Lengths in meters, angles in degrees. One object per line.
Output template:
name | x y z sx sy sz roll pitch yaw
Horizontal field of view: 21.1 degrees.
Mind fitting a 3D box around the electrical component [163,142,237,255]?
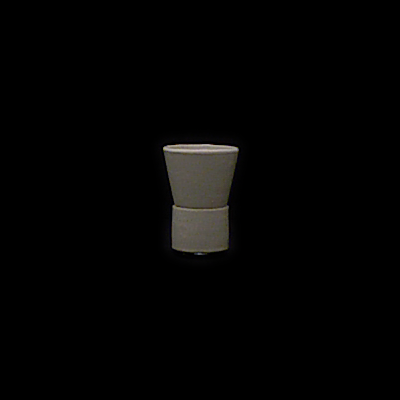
electrical component | 0.000 0.000 0.646 0.044 0.066 0.044 0 10 0
